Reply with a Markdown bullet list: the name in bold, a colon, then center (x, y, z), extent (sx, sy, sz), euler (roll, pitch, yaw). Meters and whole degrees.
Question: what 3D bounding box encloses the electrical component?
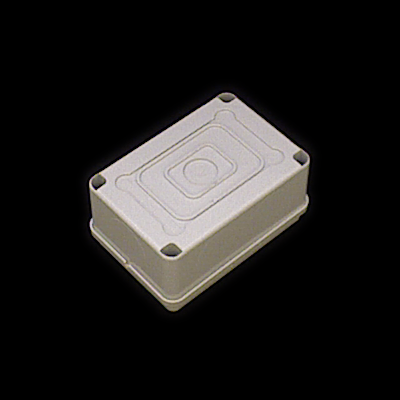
- **electrical component**: center (0.000, 0.000, 0.629), extent (0.113, 0.057, 0.078), euler (-35, 61, -24)
